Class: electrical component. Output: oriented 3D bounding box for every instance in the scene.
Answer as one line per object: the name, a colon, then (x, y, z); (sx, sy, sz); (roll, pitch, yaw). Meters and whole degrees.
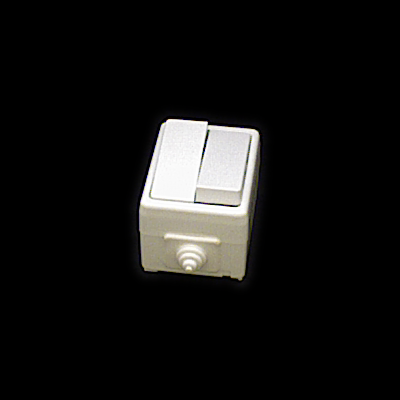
electrical component: (0.000, 0.000, 0.629); (0.062, 0.061, 0.096); (6, 42, 6)
